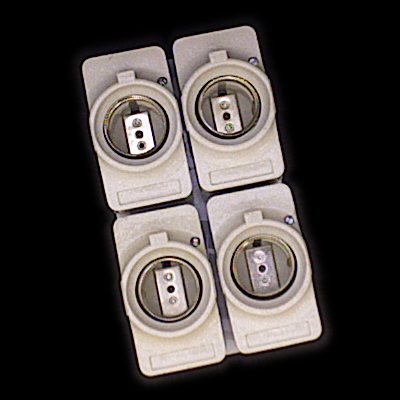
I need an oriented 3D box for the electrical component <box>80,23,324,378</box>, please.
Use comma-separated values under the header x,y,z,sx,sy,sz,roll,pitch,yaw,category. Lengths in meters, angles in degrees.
x,y,z,sx,sy,sz,roll,pitch,yaw,category
0.000,0.000,0.626,0.105,0.187,0.060,-12,-7,-1,electrical component
